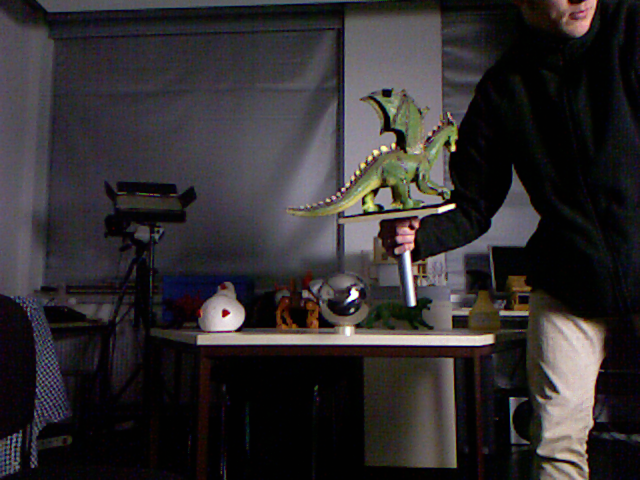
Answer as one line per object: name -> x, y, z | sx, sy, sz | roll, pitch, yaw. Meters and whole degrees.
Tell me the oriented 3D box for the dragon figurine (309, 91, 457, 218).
dragon figurine -> 0.150, -0.185, 1.072 | 0.413, 0.241, 0.122 | -10, 10, -34
